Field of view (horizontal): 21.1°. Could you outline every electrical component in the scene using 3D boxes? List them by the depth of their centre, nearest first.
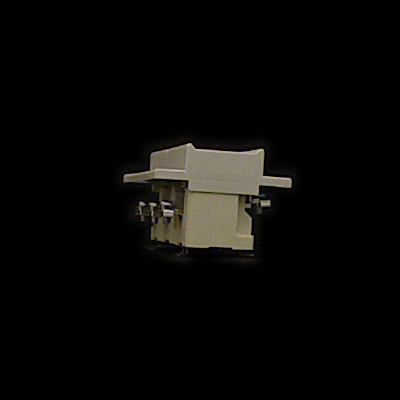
[{"bbox_3d":[0.000,0.000,0.663,0.079,0.063,0.121,2,0,-12],"label":"electrical component"}]
